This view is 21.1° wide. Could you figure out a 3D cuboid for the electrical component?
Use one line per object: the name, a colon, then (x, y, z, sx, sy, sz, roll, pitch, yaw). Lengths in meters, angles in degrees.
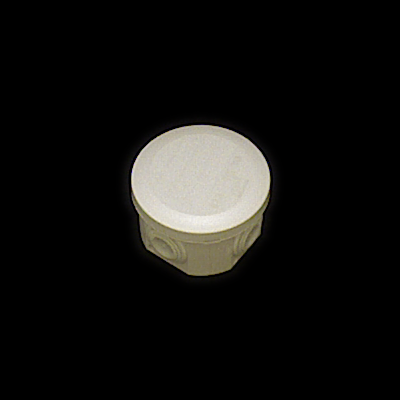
electrical component: (0.000, 0.000, 0.630, 0.080, 0.080, 0.051, 0, -38, 0)
